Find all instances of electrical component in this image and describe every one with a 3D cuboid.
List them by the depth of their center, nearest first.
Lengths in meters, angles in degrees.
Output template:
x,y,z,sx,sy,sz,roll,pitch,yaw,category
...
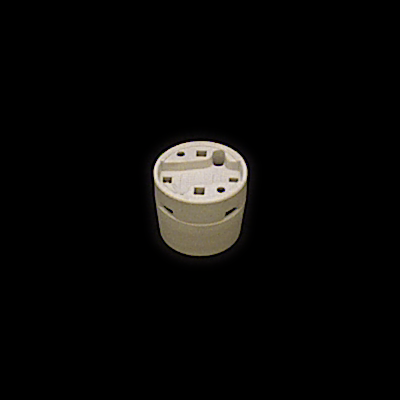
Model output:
x,y,z,sx,sy,sz,roll,pitch,yaw,category
0.000,0.000,0.635,0.055,0.047,0.055,1,42,0,electrical component
